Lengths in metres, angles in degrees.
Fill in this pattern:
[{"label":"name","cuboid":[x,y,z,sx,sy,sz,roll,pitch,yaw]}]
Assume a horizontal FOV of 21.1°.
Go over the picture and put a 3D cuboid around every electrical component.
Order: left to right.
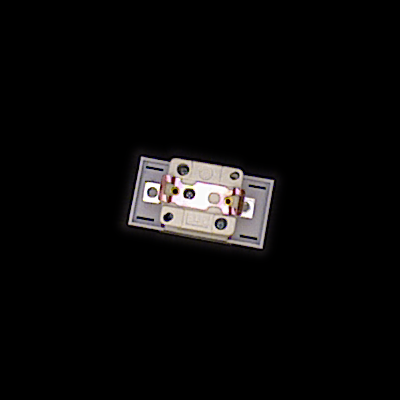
[{"label":"electrical component","cuboid":[0.000,0.000,0.626,0.081,0.042,0.063,10,-6,2]}]
